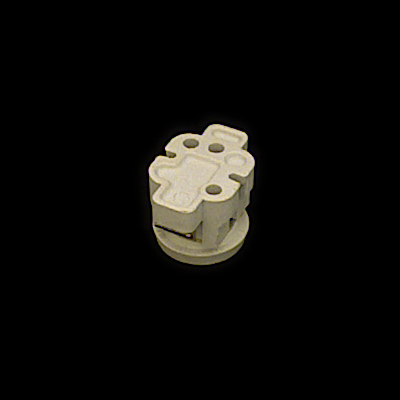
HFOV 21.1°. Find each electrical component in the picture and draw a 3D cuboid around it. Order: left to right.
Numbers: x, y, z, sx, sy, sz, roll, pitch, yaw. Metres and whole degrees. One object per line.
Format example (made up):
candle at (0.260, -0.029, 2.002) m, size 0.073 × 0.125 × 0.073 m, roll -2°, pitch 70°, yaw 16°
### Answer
electrical component at (0.000, 0.000, 0.637) m, size 0.057 × 0.057 × 0.078 m, roll 19°, pitch 47°, yaw 18°
